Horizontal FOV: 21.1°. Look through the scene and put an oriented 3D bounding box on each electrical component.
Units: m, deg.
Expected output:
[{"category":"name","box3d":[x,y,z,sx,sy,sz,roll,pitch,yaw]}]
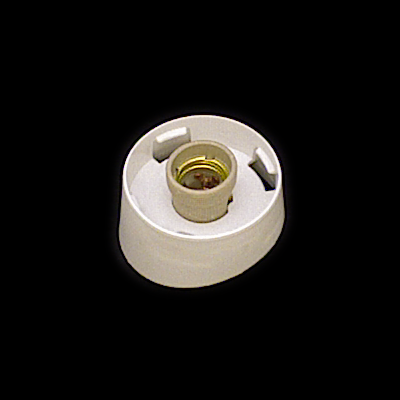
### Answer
[{"category":"electrical component","box3d":[0.000,0.000,0.627,0.099,0.098,0.064,0,-37,0]}]
